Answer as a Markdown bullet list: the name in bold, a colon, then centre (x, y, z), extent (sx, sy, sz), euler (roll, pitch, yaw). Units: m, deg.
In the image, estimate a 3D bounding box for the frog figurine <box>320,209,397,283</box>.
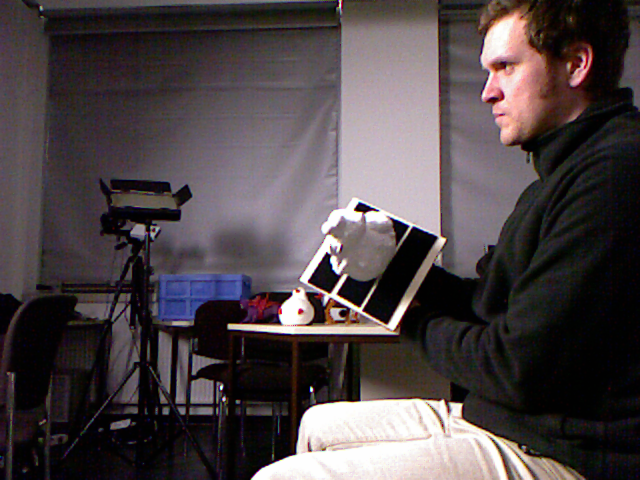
- **frog figurine**: centre (0.071, 0.001, 0.907), extent (0.138, 0.125, 0.157), euler (-38, -25, -6)
